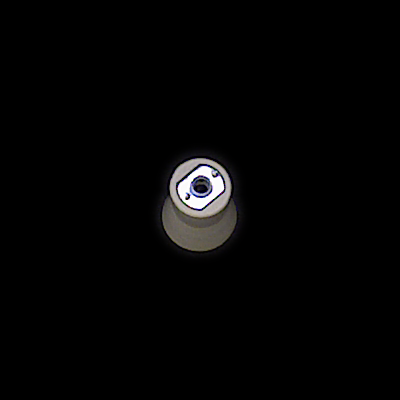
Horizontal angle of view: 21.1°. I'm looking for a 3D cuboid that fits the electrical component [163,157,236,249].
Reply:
[{"bbox_3d":[0.000,0.000,0.624,0.044,0.044,0.065,0,-16,-1],"label":"electrical component"}]
